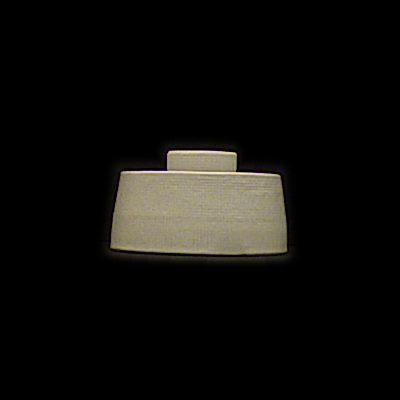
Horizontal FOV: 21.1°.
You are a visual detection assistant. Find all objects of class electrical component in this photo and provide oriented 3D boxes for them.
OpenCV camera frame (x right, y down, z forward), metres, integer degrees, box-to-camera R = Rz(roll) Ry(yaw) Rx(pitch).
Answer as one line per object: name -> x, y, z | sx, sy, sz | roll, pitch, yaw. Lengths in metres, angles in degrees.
electrical component -> 0.000, 0.000, 0.656 | 0.108, 0.060, 0.108 | 1, 1, 0
